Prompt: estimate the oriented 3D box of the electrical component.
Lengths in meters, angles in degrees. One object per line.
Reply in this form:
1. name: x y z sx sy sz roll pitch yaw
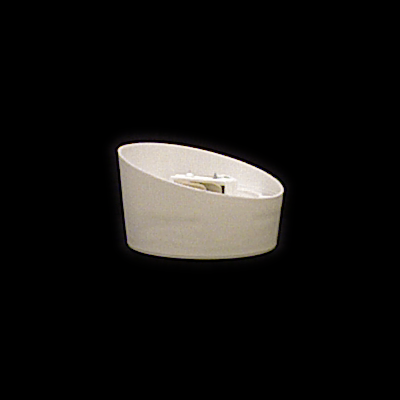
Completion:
1. electrical component: 0.000 0.000 0.643 0.099 0.064 0.098 0 10 0
